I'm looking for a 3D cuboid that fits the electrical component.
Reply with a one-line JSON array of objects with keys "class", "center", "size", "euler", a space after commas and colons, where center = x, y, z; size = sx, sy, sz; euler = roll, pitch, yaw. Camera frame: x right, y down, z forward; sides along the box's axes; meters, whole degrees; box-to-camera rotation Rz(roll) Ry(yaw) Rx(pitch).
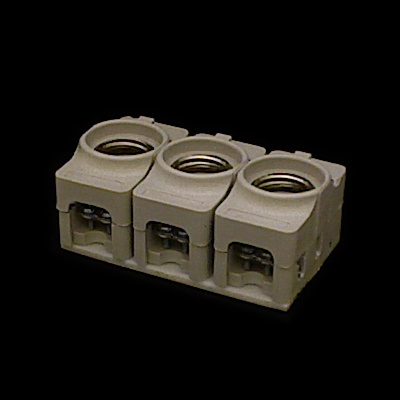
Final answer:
[{"class": "electrical component", "center": [0.000, 0.000, 0.642], "size": [0.149, 0.063, 0.088], "euler": [14, 33, 20]}]
